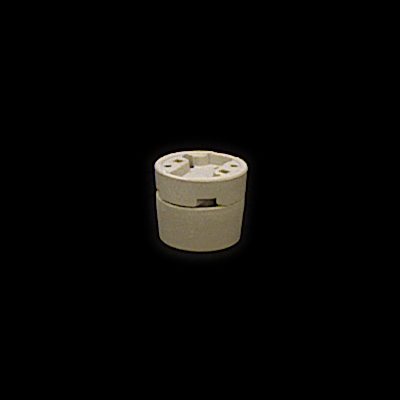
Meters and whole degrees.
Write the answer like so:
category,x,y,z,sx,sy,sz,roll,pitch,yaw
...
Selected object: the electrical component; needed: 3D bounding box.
category,x,y,z,sx,sy,sz,roll,pitch,yaw
electrical component,0.000,0.000,0.643,0.055,0.047,0.055,1,22,0
